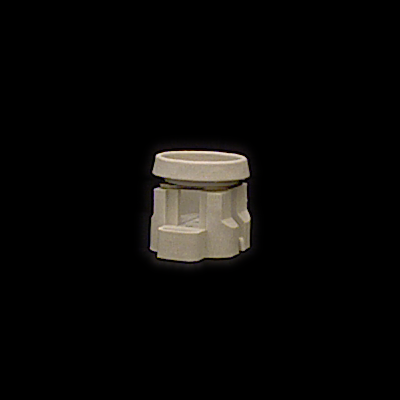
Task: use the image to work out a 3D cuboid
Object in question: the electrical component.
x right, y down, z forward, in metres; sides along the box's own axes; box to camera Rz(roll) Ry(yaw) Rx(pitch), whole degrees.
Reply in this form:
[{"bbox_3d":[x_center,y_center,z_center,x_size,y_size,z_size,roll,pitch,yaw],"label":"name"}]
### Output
[{"bbox_3d":[0.000,0.000,0.646,0.057,0.057,0.078,6,11,22],"label":"electrical component"}]
